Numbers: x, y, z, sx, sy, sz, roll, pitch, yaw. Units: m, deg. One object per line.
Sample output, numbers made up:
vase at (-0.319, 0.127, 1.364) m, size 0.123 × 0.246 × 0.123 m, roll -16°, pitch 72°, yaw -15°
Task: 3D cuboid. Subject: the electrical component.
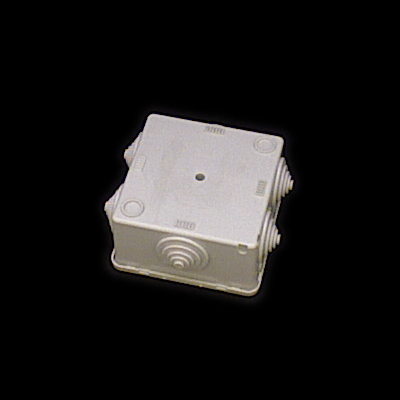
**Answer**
electrical component at (0.000, 0.000, 0.632) m, size 0.099 × 0.099 × 0.049 m, roll 11°, pitch -37°, yaw 8°
